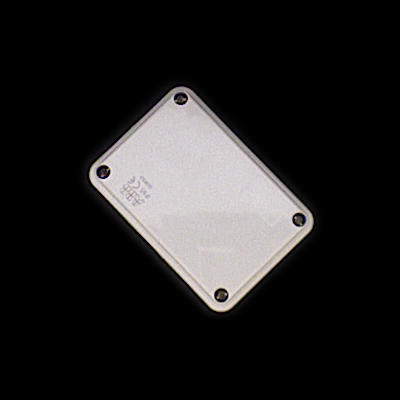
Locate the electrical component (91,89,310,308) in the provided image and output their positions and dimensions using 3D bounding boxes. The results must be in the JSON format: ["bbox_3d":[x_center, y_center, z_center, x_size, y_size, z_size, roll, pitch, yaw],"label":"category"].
[{"bbox_3d":[0.000,0.000,0.627,0.078,0.113,0.057,-44,-5,-4],"label":"electrical component"}]
